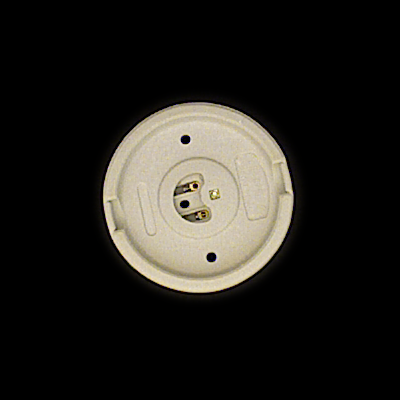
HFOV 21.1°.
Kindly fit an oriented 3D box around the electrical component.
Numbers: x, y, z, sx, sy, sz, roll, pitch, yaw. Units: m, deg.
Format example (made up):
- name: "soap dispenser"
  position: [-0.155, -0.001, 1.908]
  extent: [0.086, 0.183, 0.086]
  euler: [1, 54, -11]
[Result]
- name: "electrical component"
  position: [0.000, 0.000, 0.635]
  extent: [0.108, 0.108, 0.060]
  euler: [0, -6, 0]
